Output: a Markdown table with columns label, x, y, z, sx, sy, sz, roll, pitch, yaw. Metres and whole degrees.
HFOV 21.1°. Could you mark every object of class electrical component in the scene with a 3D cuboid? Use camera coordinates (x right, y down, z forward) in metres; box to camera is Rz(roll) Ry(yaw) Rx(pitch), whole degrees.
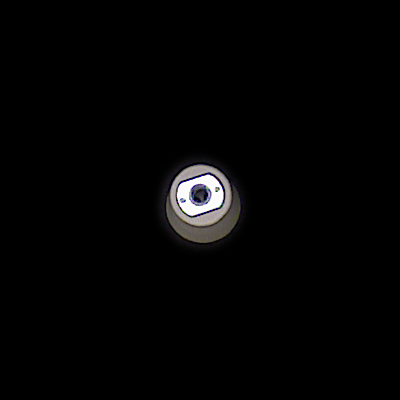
| label | x | y | z | sx | sy | sz | roll | pitch | yaw |
| --- | --- | --- | --- | --- | --- | --- | --- | --- | --- |
| electrical component | 0.000 | 0.000 | 0.626 | 0.044 | 0.044 | 0.065 | 0 | -7 | 1 |
